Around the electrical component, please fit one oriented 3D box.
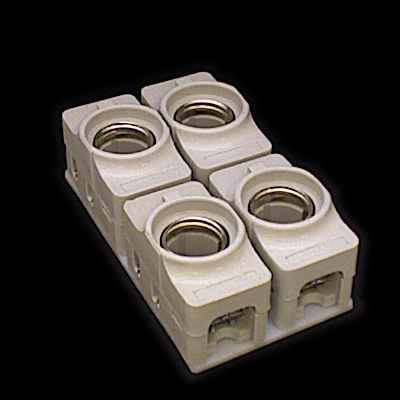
[{"bbox_3d":[0.000,0.000,0.630,0.105,0.061,0.184,-19,45,-20],"label":"electrical component"}]
